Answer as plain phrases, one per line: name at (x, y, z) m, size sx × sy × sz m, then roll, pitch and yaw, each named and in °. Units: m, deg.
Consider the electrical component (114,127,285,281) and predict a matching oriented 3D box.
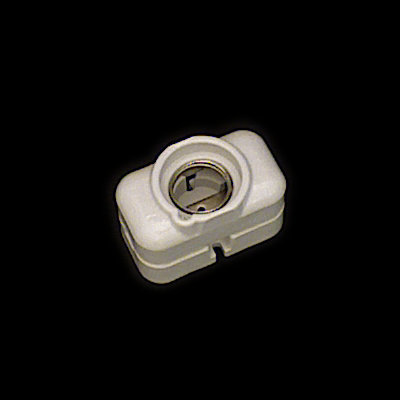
electrical component at (0.000, 0.000, 0.633) m, size 0.095 × 0.053 × 0.059 m, roll -23°, pitch -25°, yaw -11°
